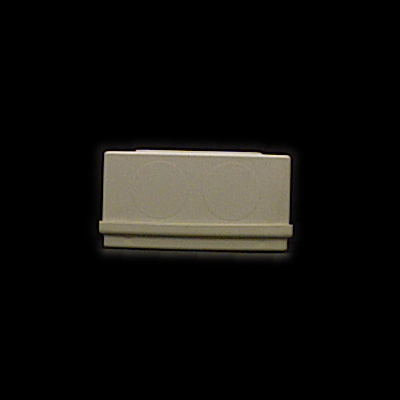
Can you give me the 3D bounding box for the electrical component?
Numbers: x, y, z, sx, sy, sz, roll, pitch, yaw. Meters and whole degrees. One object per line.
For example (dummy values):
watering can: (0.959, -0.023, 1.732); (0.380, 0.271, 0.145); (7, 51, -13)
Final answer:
electrical component: (0.000, 0.000, 0.649); (0.109, 0.056, 0.108); (1, 1, 3)
